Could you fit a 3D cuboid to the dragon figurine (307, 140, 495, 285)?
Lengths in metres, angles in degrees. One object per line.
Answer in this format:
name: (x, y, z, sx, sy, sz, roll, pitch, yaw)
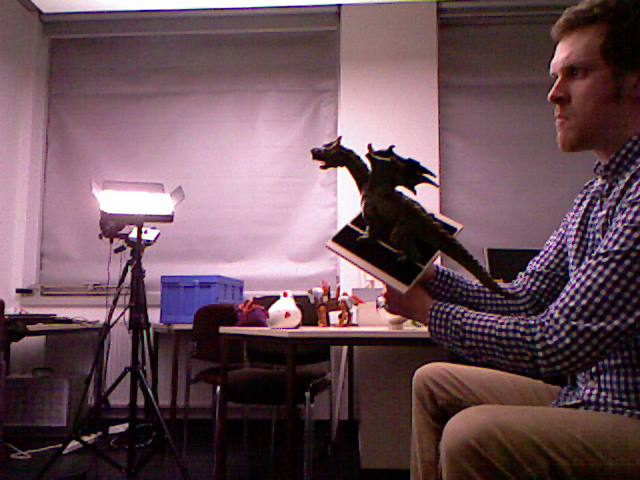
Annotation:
dragon figurine: (0.155, -0.070, 0.961, 0.415, 0.124, 0.238, 29, -21, 22)
